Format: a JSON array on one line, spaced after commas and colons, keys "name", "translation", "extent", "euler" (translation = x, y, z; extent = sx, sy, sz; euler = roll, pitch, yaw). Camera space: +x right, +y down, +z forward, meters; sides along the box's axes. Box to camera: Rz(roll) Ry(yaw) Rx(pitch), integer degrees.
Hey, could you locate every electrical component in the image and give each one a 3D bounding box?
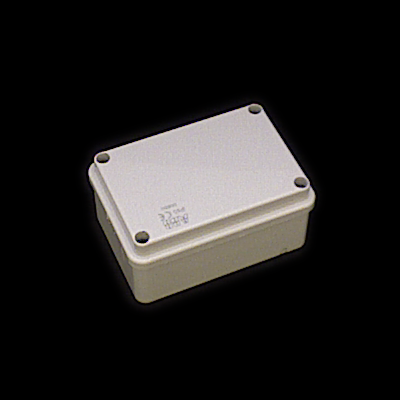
[{"name": "electrical component", "translation": [0.000, 0.000, 0.627], "extent": [0.113, 0.078, 0.057], "euler": [-19, -35, -15]}]
